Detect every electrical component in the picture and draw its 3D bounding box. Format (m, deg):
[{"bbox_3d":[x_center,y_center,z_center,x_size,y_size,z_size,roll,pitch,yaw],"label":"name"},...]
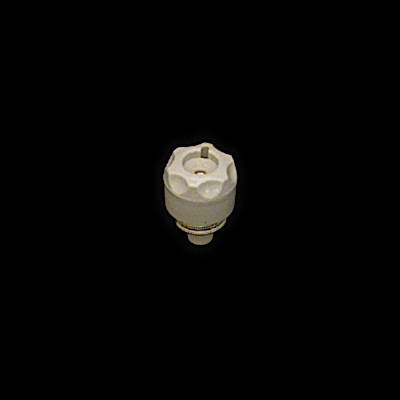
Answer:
[{"bbox_3d":[0.000,0.000,0.637,0.043,0.062,0.043,1,43,0],"label":"electrical component"}]
